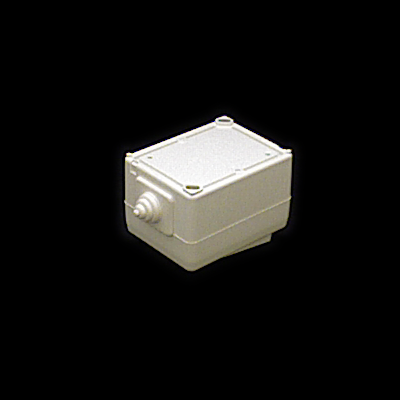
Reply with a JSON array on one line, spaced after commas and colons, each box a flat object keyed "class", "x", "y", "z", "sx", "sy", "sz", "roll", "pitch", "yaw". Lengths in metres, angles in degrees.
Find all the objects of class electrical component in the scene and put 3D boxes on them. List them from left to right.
[{"class": "electrical component", "x": 0.000, "y": 0.000, "z": 0.628, "sx": 0.096, "sy": 0.061, "sz": 0.061, "roll": -24, "pitch": 40, "yaw": -35}]
